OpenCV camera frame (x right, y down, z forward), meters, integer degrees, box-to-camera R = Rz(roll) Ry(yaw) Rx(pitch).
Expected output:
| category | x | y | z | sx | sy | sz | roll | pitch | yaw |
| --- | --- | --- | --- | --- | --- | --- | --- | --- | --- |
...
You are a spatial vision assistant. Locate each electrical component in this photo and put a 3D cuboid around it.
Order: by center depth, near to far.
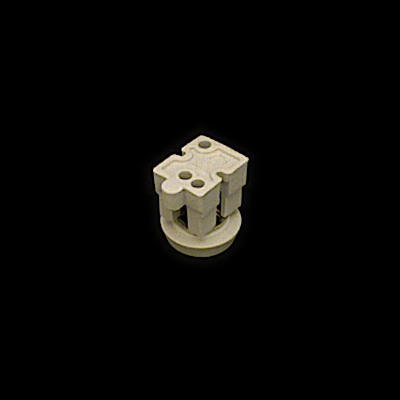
| category | x | y | z | sx | sy | sz | roll | pitch | yaw |
| --- | --- | --- | --- | --- | --- | --- | --- | --- | --- |
| electrical component | 0.000 | 0.000 | 0.639 | 0.048 | 0.056 | 0.067 | 29 | 49 | 29 |
